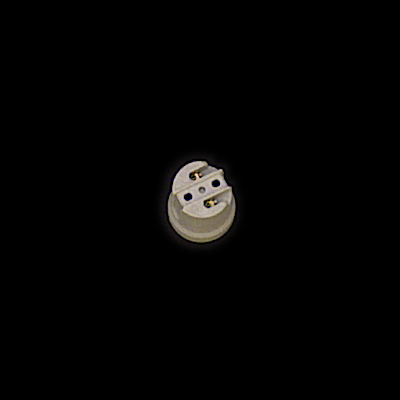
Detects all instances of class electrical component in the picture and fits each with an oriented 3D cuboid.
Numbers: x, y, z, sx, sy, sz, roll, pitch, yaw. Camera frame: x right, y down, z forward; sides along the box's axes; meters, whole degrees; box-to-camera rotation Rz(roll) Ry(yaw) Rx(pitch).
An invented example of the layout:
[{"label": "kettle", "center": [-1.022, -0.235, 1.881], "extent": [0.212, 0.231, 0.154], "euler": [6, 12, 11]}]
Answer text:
[{"label": "electrical component", "center": [0.000, 0.000, 0.633], "extent": [0.040, 0.040, 0.046], "euler": [0, -16, 0]}]
